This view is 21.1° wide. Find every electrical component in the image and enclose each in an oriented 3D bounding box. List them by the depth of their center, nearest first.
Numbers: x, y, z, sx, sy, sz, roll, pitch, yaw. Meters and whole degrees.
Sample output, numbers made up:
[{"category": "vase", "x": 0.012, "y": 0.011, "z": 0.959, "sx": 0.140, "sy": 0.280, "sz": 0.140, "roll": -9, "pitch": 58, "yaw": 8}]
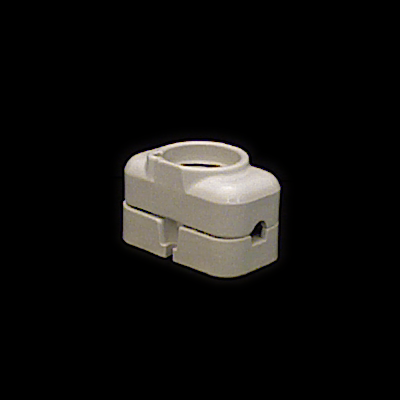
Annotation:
[{"category": "electrical component", "x": 0.000, "y": 0.000, "z": 0.644, "sx": 0.094, "sy": 0.060, "sz": 0.054, "roll": 19, "pitch": 27, "yaw": 38}]
